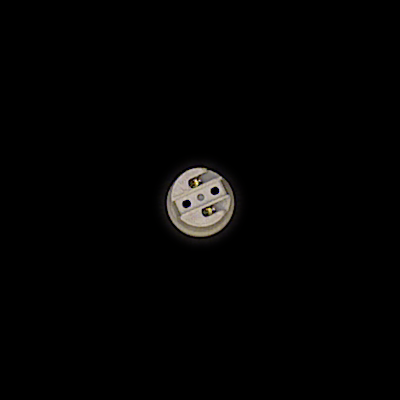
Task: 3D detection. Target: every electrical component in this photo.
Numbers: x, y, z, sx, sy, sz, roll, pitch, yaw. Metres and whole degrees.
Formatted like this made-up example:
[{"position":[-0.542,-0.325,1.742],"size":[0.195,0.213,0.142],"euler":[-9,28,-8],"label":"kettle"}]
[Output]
[{"position":[0.000,0.000,0.634],"size":[0.040,0.040,0.046],"euler":[0,-6,0],"label":"electrical component"}]
